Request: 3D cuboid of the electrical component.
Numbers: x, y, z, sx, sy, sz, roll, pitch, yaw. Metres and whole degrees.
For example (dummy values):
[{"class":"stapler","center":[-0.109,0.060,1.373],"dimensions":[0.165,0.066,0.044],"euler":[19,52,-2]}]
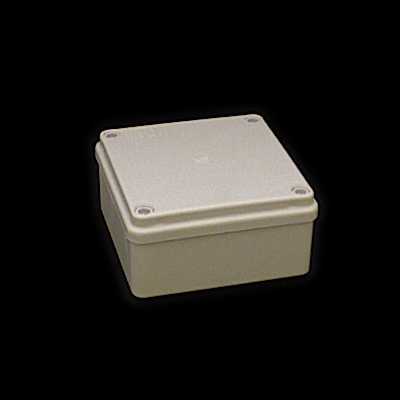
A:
[{"class":"electrical component","center":[0.000,0.000,0.634],"dimensions":[0.109,0.057,0.107],"euler":[-7,33,-13]}]
